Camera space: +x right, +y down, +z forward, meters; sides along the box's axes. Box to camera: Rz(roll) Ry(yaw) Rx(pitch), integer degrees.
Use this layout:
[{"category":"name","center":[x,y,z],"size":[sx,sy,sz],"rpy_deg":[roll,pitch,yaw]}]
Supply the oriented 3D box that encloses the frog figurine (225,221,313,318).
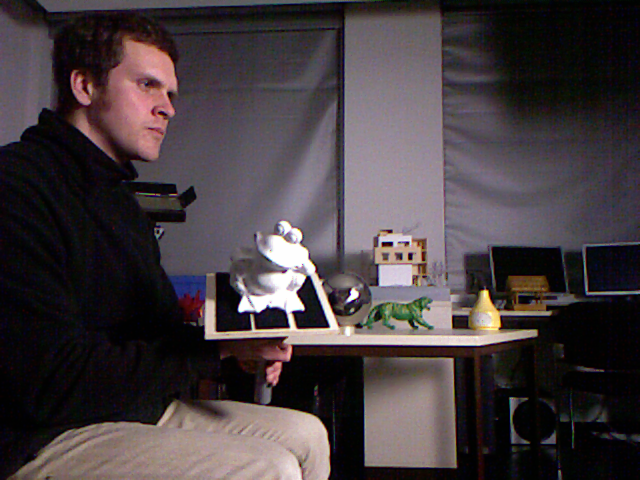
[{"category":"frog figurine","center":[-0.079,0.034,0.819],"size":[0.138,0.157,0.125],"rpy_deg":[9,24,6]}]
